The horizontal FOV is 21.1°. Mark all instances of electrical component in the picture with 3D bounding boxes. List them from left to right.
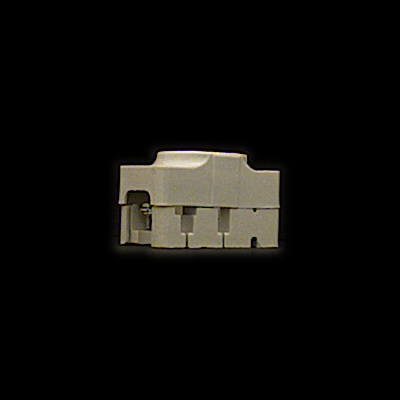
[{"bbox_3d":[0.000,0.000,0.656,0.090,0.056,0.050,1,2,-36],"label":"electrical component"}]
